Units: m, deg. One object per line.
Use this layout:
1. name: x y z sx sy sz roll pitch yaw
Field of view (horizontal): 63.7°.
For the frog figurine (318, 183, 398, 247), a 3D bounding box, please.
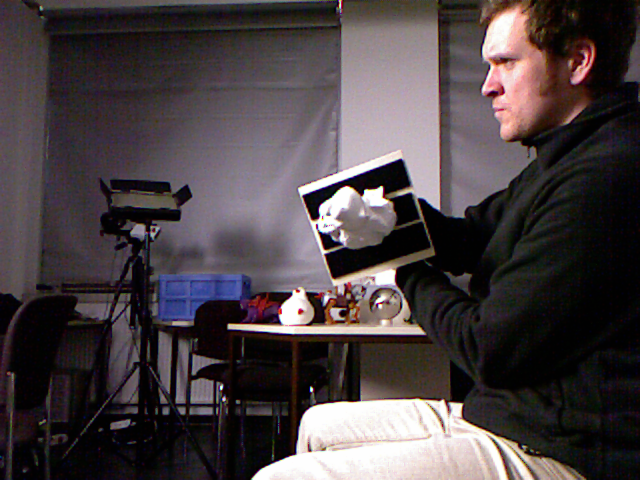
1. frog figurine: 0.063 -0.037 0.889 0.138 0.122 0.162 4 14 11
